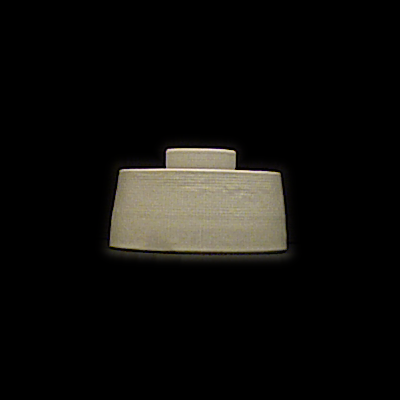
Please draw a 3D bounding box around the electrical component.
[{"bbox_3d":[0.000,0.000,0.654,0.108,0.060,0.108,1,1,1],"label":"electrical component"}]
